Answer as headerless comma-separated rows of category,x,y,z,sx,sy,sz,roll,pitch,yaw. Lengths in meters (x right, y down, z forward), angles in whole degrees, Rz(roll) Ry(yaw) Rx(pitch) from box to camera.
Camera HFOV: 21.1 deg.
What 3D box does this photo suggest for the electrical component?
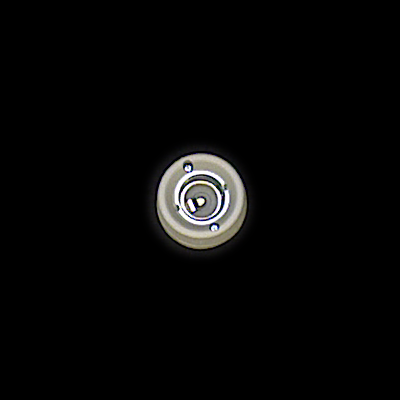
electrical component,0.000,0.000,0.634,0.055,0.055,0.047,0,-8,1
